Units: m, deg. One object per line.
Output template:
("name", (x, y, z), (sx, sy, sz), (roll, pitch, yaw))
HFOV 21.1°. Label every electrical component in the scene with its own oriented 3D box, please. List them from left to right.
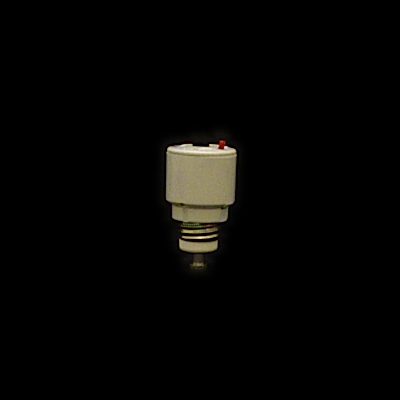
("electrical component", (0.000, 0.000, 0.640), (0.040, 0.079, 0.040), (2, 11, 0))
